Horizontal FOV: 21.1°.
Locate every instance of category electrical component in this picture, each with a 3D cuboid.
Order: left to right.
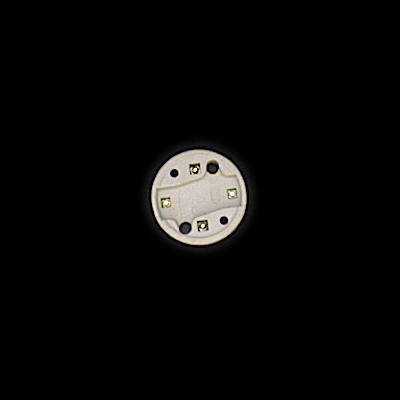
[{"bbox_3d":[0.000,0.000,0.636,0.055,0.056,0.047,0,-7,0],"label":"electrical component"}]
